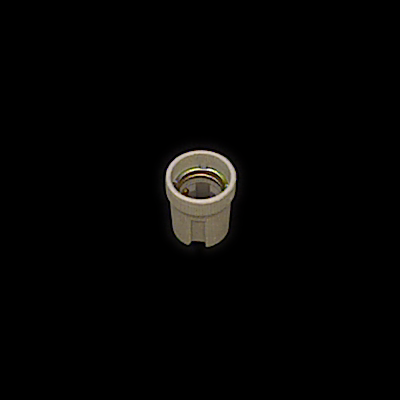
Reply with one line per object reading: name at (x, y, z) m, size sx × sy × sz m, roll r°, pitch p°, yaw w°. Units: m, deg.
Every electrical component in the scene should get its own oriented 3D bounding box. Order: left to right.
electrical component at (0.000, 0.000, 0.632) m, size 0.040 × 0.039 × 0.047 m, roll 0°, pitch -38°, yaw -1°
